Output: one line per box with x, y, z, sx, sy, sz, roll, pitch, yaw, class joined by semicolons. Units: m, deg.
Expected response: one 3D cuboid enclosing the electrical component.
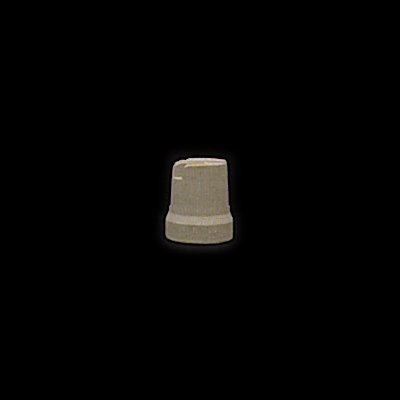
0.000;0.000;0.646;0.040;0.046;0.040;2;11;0;electrical component
